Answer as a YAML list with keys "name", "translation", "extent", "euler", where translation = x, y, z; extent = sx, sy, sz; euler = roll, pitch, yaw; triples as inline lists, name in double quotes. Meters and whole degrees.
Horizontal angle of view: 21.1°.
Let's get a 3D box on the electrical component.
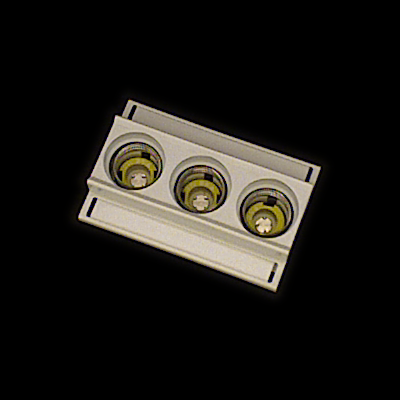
- name: "electrical component"
  translation: [0.000, 0.000, 0.638]
  extent: [0.121, 0.079, 0.063]
  euler: [20, -16, 6]
